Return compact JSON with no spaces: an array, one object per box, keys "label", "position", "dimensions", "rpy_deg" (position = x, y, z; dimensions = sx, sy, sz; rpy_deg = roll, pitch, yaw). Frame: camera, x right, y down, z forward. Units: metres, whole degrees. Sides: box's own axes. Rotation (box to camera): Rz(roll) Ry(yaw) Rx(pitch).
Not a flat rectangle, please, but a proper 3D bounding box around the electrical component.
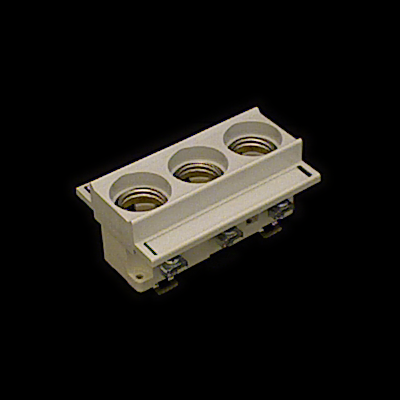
[{"label":"electrical component","position":[0.000,0.000,0.642],"dimensions":[0.121,0.064,0.077],"rpy_deg":[-26,47,-26]}]
